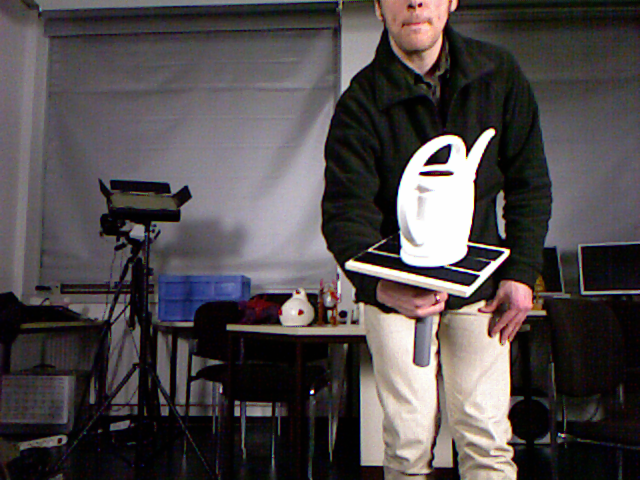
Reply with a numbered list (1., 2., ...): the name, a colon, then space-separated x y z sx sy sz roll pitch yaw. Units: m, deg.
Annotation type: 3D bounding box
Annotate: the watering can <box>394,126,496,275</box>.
1. watering can: 0.217 -0.074 0.862 0.105 0.221 0.352 18 28 33
